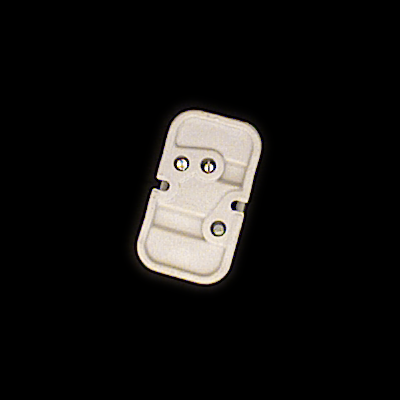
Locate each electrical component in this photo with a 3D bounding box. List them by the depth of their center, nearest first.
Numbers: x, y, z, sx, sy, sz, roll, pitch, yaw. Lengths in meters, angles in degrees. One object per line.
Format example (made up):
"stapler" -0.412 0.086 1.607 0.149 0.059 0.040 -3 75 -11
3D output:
"electrical component" 0.000 0.000 0.636 0.054 0.095 0.059 15 -5 2
